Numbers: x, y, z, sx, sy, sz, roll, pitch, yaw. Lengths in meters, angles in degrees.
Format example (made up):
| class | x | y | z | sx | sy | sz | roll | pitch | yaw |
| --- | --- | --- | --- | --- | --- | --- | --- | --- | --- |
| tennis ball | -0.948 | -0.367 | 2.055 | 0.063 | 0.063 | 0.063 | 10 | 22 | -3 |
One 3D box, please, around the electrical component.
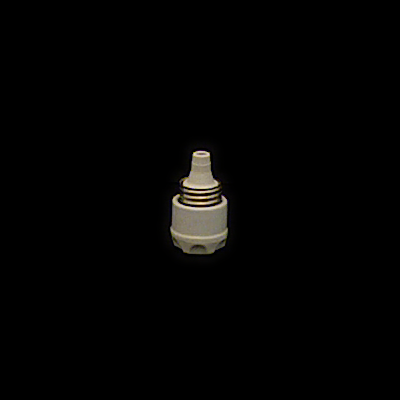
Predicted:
| class | x | y | z | sx | sy | sz | roll | pitch | yaw |
| --- | --- | --- | --- | --- | --- | --- | --- | --- | --- |
| electrical component | 0.000 | 0.000 | 0.651 | 0.035 | 0.062 | 0.034 | 2 | 21 | 0 |
